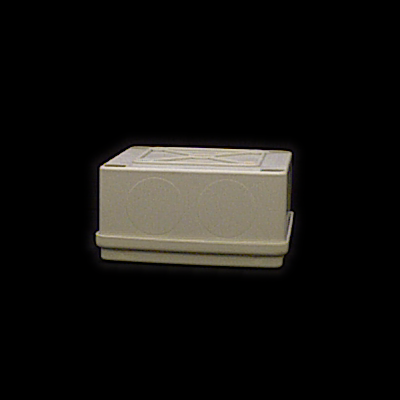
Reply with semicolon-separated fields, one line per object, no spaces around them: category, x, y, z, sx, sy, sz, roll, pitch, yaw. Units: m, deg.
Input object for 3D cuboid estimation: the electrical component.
electrical component;0.000;0.000;0.645;0.108;0.056;0.108;2;10;6
